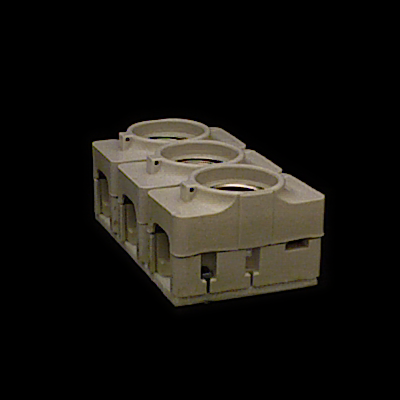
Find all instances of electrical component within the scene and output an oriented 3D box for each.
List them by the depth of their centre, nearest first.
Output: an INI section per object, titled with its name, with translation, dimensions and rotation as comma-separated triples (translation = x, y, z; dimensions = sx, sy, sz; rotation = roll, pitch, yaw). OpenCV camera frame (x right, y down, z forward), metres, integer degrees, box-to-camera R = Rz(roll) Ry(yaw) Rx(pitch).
[electrical component]
translation = 0.000, 0.000, 0.644
dimensions = 0.089, 0.063, 0.147
rotation = -8, 22, -22
